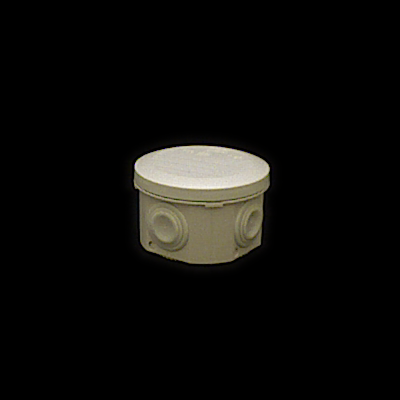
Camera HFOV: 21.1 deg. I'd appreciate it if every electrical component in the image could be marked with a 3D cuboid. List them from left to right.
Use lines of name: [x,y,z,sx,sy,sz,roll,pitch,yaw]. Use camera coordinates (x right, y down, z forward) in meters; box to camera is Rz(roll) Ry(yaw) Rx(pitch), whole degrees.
electrical component: [0.000,0.000,0.640,0.080,0.051,0.079,1,21,0]
